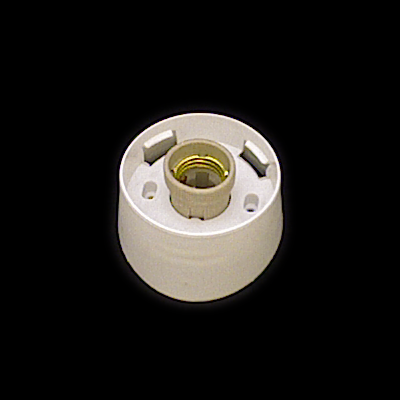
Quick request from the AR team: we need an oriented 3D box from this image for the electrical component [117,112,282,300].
[{"bbox_3d":[0.000,0.000,0.627,0.099,0.098,0.064,0,-37,-1],"label":"electrical component"}]
